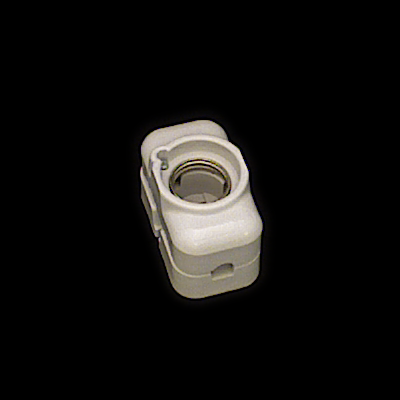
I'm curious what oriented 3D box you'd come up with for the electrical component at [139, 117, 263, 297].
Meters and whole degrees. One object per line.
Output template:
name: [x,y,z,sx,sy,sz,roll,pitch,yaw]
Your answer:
electrical component: [0.000,0.000,0.635,0.054,0.094,0.059,-14,-36,-11]
